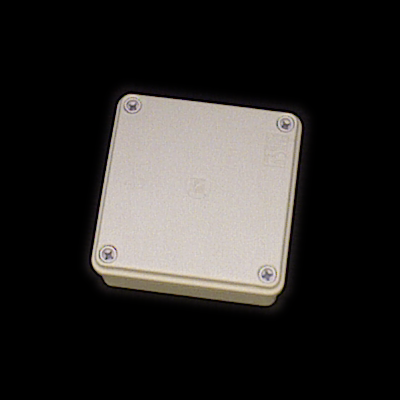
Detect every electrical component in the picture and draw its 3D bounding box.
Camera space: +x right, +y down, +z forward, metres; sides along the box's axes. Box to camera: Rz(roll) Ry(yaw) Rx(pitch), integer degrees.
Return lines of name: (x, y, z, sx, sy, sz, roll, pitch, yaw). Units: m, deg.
electrical component: (0.000, 0.000, 0.629, 0.109, 0.109, 0.056, 7, -17, 2)
